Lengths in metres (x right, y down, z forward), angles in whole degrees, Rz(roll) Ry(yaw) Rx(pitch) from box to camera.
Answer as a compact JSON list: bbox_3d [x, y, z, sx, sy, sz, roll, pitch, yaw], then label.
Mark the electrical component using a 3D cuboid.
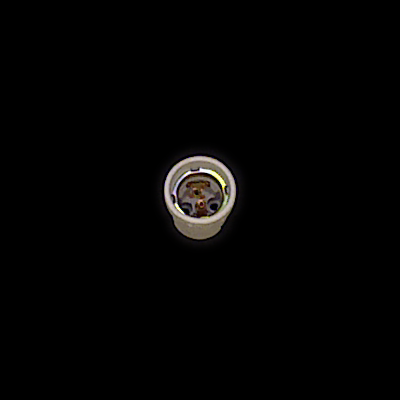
[{"bbox_3d":[0.000,0.000,0.627,0.040,0.040,0.046,0,-17,-1],"label":"electrical component"}]
